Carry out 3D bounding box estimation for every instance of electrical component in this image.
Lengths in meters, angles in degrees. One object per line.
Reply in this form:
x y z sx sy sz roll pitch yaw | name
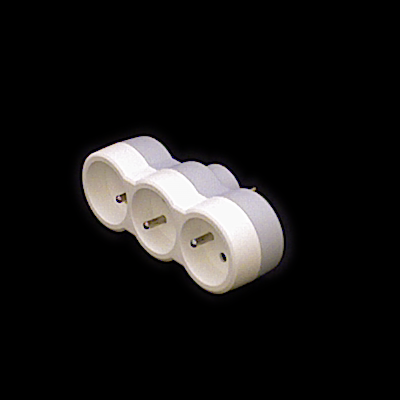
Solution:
0.000 0.000 0.638 0.074 0.053 0.137 -24 38 -37 | electrical component
